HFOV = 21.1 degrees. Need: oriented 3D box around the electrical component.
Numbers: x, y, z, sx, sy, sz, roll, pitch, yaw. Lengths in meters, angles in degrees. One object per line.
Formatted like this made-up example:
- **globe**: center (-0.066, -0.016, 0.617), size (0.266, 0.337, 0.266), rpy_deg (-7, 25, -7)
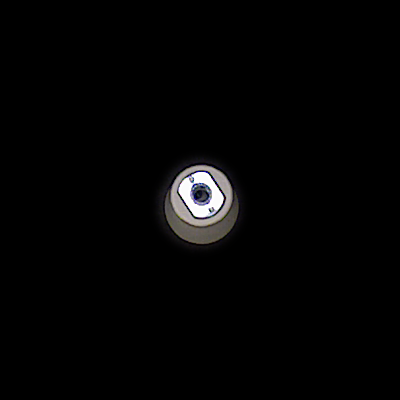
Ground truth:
- **electrical component**: center (0.000, 0.000, 0.626), size (0.044, 0.044, 0.065), rpy_deg (0, -7, 0)
